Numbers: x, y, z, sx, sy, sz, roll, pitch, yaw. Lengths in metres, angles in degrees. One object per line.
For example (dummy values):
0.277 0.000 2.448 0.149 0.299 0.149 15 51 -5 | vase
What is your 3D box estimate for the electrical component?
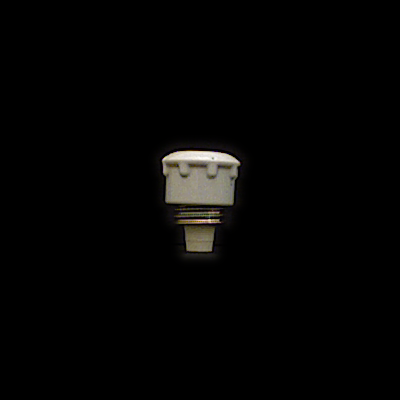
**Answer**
0.000 0.000 0.658 0.048 0.062 0.048 2 2 1 | electrical component
